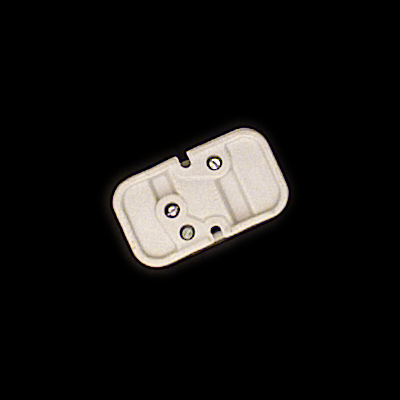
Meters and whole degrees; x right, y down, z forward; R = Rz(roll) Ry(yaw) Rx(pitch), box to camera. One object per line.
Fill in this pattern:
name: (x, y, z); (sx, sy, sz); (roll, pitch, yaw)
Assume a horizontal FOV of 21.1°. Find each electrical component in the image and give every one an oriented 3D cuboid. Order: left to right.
electrical component: (0.000, 0.000, 0.636); (0.095, 0.054, 0.059); (-24, -5, -3)
